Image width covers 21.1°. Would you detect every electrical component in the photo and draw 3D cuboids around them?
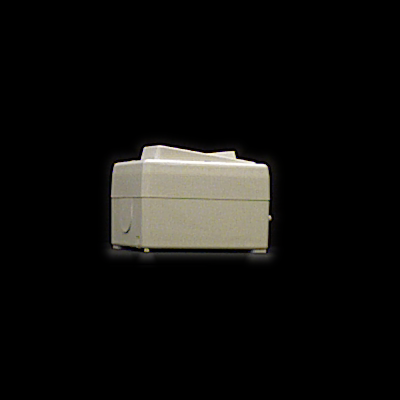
[{"bbox_3d":[0.000,0.000,0.651,0.096,0.061,0.061,1,0,-23],"label":"electrical component"}]
